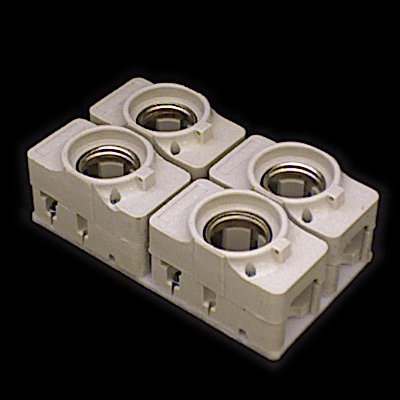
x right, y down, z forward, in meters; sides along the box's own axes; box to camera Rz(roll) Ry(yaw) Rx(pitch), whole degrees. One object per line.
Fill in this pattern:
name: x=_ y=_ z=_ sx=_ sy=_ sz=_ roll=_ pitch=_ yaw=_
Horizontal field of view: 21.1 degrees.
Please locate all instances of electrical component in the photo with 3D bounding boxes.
electrical component: x=0.000 y=0.000 z=0.630 sx=0.185 sy=0.061 sz=0.105 roll=28 pitch=48 yaw=26
